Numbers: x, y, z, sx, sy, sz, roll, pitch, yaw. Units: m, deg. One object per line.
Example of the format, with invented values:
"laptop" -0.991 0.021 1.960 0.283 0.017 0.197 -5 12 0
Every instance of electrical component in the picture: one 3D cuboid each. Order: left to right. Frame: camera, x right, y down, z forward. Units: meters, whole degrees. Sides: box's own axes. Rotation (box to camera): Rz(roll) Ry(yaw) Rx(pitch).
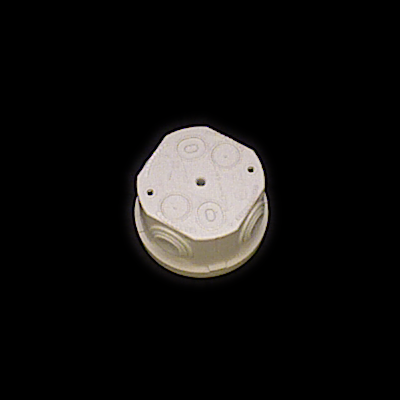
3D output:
"electrical component" 0.000 0.000 0.631 0.080 0.080 0.050 0 -27 1
